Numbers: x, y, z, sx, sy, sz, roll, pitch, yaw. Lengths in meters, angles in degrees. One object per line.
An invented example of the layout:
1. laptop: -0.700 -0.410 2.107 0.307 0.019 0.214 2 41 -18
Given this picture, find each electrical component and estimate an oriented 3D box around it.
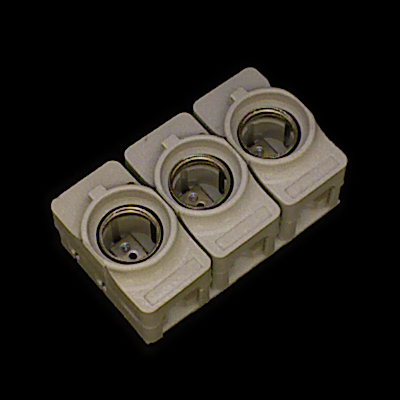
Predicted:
1. electrical component: 0.000 0.000 0.632 0.150 0.089 0.062 -36 -22 -17
